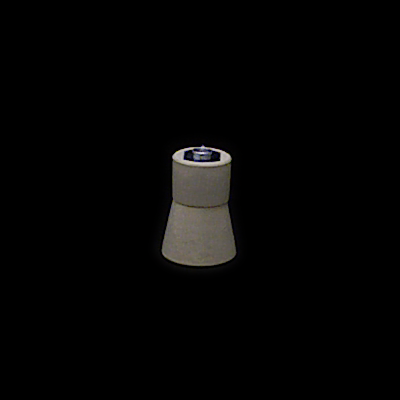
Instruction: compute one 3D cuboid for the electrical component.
[{"bbox_3d":[0.000,0.000,0.637,0.044,0.066,0.044,2,21,-1],"label":"electrical component"}]
